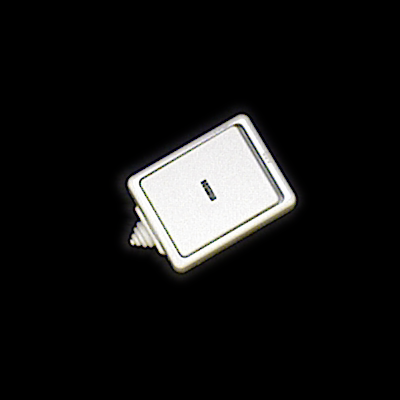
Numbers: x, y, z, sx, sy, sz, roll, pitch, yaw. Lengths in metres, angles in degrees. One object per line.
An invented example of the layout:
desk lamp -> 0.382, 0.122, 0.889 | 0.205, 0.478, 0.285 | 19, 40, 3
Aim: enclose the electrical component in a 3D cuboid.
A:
electrical component -> 0.000, 0.000, 0.626 | 0.096, 0.062, 0.061 | -30, -6, -3
